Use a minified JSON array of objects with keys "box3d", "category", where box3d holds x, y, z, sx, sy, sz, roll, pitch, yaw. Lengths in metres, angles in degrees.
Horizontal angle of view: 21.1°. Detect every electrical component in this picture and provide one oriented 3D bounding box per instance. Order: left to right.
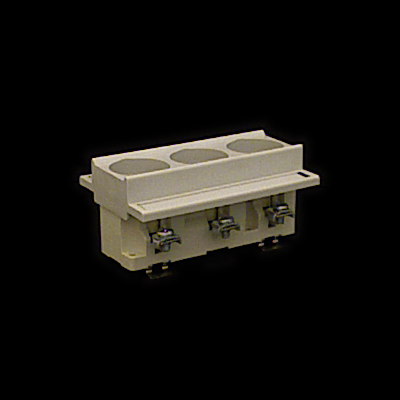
[{"box3d":[0.000,0.000,0.651,0.121,0.064,0.077,-12,23,-30],"category":"electrical component"}]
